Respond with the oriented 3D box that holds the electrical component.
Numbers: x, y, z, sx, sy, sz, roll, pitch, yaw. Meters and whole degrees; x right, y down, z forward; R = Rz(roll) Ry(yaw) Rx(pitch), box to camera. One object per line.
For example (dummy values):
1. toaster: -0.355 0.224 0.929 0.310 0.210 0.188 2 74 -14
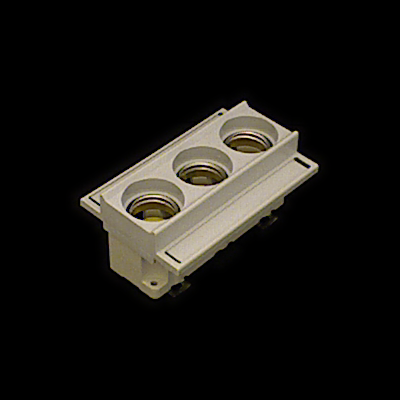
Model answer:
1. electrical component: 0.000 0.000 0.642 0.078 0.064 0.121 34 52 29
